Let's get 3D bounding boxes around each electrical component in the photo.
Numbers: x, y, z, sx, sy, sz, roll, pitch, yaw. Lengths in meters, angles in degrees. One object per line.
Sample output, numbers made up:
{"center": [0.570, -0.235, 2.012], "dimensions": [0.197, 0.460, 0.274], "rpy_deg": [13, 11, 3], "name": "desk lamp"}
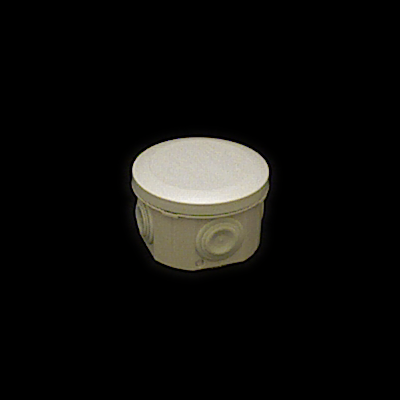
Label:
{"center": [0.000, 0.000, 0.635], "dimensions": [0.080, 0.051, 0.079], "rpy_deg": [1, 31, 0], "name": "electrical component"}
